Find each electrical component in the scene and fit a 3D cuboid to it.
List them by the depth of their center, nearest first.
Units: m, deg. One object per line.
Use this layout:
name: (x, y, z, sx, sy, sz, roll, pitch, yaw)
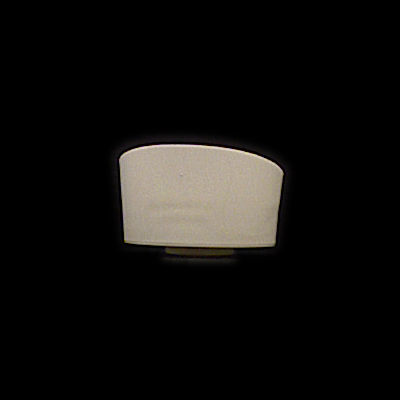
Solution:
electrical component: (0.000, 0.000, 0.649, 0.099, 0.064, 0.099, 1, 1, 0)
